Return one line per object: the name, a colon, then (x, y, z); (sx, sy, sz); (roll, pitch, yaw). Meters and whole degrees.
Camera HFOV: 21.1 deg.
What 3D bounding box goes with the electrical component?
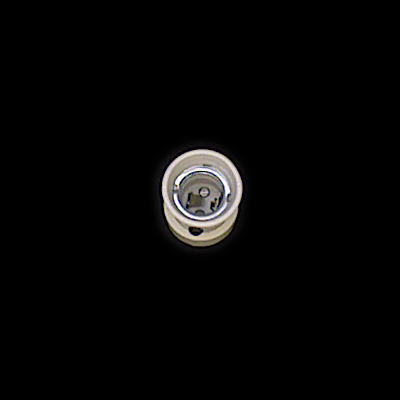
electrical component: (0.000, 0.000, 0.628); (0.045, 0.045, 0.055); (0, -16, 0)
